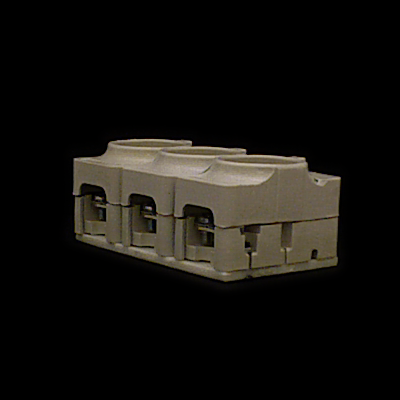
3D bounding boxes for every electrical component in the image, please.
[{"bbox_3d":[0.000,0.000,0.652,0.089,0.062,0.149,-7,13,-40],"label":"electrical component"}]
